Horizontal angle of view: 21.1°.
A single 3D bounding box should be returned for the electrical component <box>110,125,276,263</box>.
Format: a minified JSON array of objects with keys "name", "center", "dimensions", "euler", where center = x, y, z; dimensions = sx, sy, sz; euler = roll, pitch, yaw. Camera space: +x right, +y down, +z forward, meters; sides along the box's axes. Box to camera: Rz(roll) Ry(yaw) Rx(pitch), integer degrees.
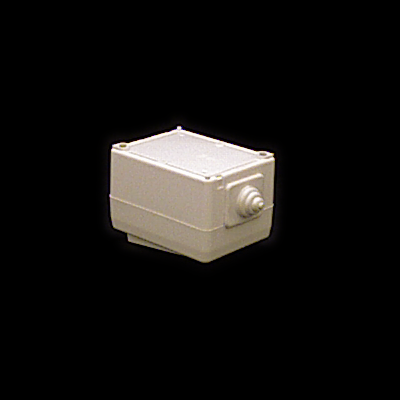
[{"name":"electrical component","center":[0.000,0.000,0.637],"dimensions":[0.095,0.061,0.061],"euler":[19,28,38]}]
